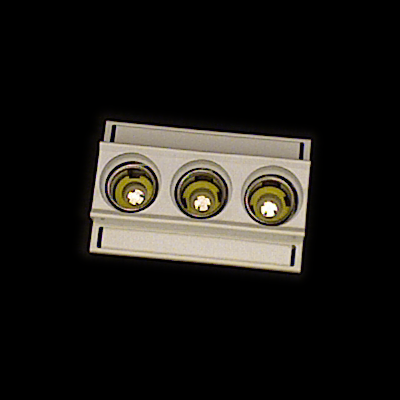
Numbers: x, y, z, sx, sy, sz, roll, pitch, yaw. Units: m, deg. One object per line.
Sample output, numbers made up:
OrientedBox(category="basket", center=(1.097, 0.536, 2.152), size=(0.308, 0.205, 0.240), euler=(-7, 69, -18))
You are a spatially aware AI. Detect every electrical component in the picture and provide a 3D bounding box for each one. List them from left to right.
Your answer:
OrientedBox(category="electrical component", center=(0.000, 0.000, 0.637), size=(0.121, 0.079, 0.063), euler=(6, -15, 2))
